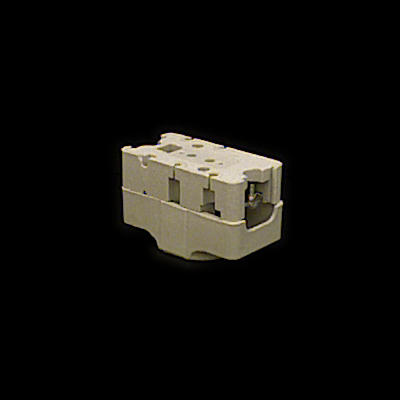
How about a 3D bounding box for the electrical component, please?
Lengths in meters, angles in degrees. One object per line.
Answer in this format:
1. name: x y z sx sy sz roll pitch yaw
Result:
1. electrical component: 0.000 0.000 0.646 0.088 0.056 0.050 17 28 36
